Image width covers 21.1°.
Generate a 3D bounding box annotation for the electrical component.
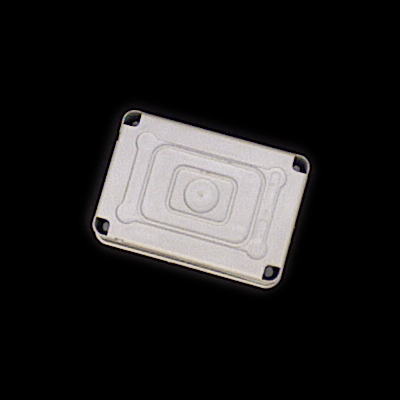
[{"bbox_3d":[0.000,0.000,0.629,0.113,0.078,0.057,16,-6,1],"label":"electrical component"}]
